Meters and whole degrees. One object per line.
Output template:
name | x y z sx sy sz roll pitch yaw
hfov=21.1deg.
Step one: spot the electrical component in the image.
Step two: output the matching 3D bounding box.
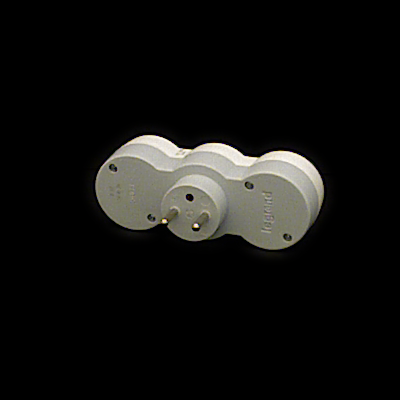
electrical component | 0.000 0.000 0.645 0.137 0.053 0.073 8 24 16
